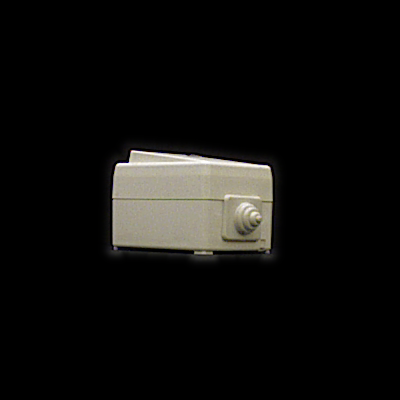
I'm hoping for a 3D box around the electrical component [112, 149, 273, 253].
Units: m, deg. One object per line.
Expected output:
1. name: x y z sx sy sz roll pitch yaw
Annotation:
1. electrical component: 0.000 0.000 0.648 0.096 0.061 0.062 1 0 44
